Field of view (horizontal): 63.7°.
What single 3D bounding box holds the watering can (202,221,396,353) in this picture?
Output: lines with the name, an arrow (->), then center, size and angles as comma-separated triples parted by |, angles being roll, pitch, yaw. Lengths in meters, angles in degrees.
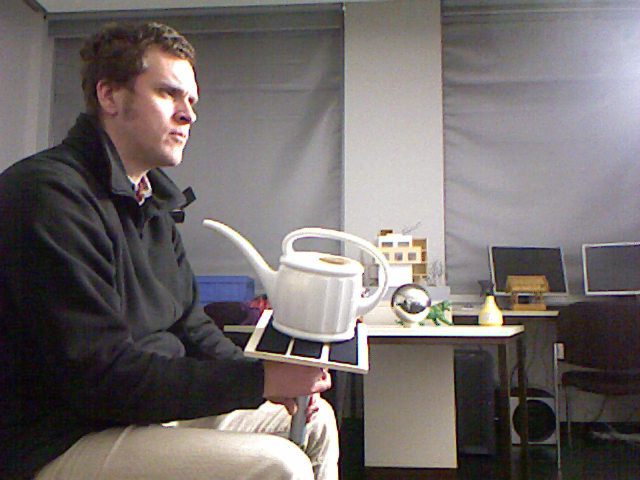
watering can -> -0.044, 0.079, 0.917 | 0.348, 0.222, 0.105 | 9, 15, 4
